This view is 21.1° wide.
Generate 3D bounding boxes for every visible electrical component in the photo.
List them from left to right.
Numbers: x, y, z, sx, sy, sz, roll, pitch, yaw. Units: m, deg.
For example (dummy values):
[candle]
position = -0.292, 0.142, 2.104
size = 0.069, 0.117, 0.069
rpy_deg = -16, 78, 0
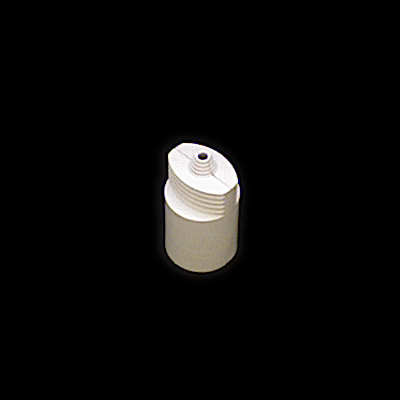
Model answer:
[electrical component]
position = 0.000, 0.000, 0.619
size = 0.043, 0.043, 0.081
rpy_deg = 0, -38, 0
